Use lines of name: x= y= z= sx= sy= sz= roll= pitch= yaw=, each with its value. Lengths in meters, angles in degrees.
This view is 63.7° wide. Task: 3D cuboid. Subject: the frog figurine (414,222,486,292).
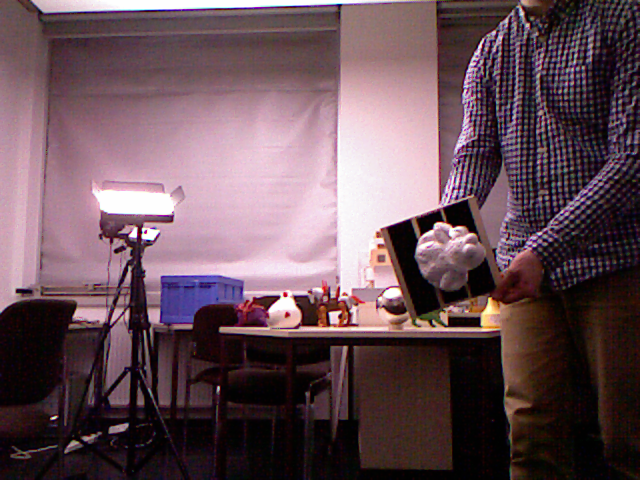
frog figurine: x=0.253 y=0.035 z=1.006 sx=0.123 sy=0.137 sz=0.160 roll=-1 pitch=4 yaw=-1
